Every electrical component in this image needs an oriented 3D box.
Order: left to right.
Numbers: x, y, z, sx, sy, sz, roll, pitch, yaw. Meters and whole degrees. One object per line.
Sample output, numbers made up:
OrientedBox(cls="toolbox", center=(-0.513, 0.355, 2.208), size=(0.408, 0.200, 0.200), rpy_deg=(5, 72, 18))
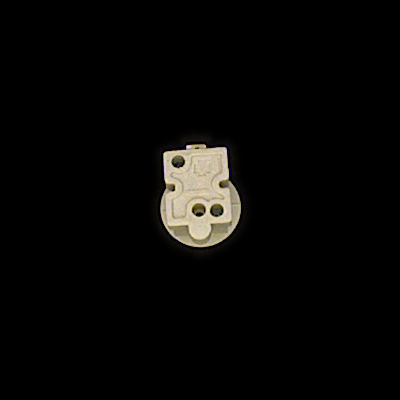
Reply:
OrientedBox(cls="electrical component", center=(0.000, 0.000, 0.637), size=(0.048, 0.067, 0.055), rpy_deg=(-4, -17, 0))
